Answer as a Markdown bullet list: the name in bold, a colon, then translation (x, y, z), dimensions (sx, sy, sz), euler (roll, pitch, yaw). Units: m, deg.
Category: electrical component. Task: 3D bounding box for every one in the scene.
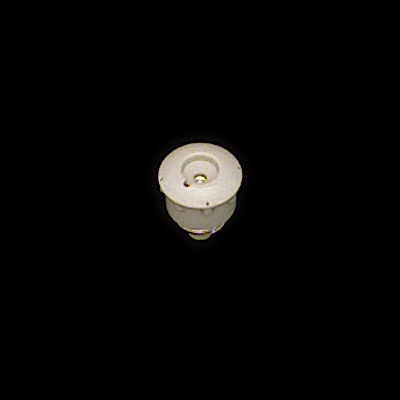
- **electrical component**: translation (0.000, 0.000, 0.634), dimensions (0.048, 0.048, 0.062), euler (0, -37, 0)
